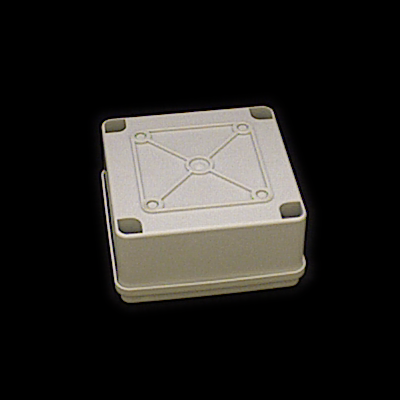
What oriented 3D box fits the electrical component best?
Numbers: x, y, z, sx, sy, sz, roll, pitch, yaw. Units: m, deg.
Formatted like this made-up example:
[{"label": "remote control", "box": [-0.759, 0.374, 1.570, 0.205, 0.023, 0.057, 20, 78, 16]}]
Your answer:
[{"label": "electrical component", "box": [0.000, 0.000, 0.629, 0.109, 0.056, 0.107, -6, 42, -7]}]
